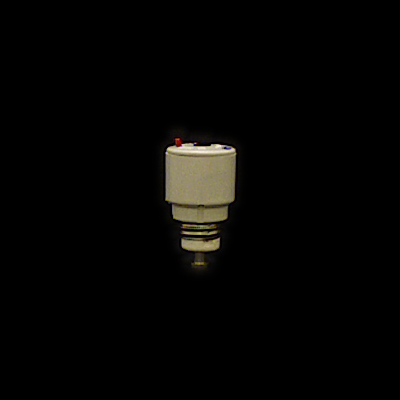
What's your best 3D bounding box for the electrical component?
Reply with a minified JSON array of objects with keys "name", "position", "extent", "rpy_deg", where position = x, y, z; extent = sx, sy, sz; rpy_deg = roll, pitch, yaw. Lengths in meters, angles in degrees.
[{"name":"electrical component","position":[0.000,0.000,0.643],"extent":[0.040,0.079,0.040],"rpy_deg":[1,11,0]}]
